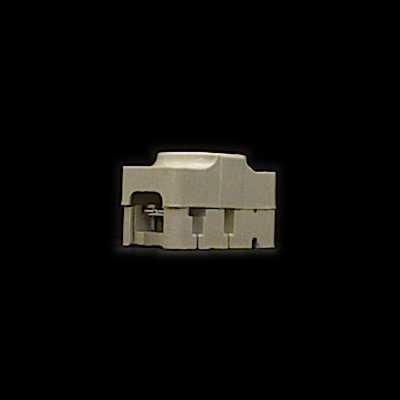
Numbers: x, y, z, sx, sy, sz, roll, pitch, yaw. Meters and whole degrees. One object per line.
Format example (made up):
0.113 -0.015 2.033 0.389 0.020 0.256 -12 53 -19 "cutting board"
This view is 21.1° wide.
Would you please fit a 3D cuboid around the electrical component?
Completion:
0.000 0.000 0.657 0.050 0.056 0.090 3 2 44 "electrical component"
